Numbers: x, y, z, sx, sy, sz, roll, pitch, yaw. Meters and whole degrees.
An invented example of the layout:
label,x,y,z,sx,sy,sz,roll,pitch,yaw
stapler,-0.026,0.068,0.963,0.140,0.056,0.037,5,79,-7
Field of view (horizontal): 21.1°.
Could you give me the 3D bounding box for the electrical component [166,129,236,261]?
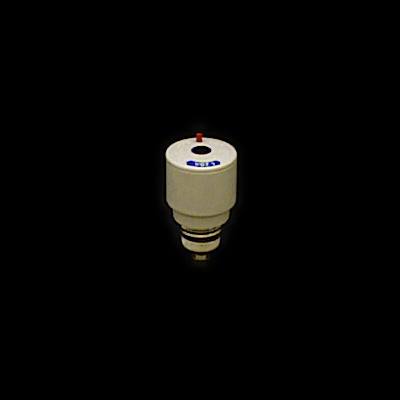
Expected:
label,x,y,z,sx,sy,sz,roll,pitch,yaw
electrical component,0.000,0.000,0.632,0.040,0.079,0.039,1,31,0
